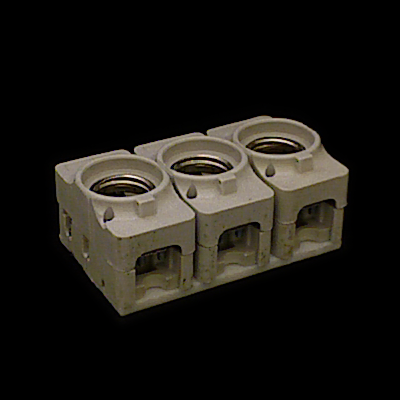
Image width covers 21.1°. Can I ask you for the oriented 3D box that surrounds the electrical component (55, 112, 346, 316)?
[{"bbox_3d":[0.000,0.000,0.639,0.149,0.063,0.088,-16,36,-25],"label":"electrical component"}]
